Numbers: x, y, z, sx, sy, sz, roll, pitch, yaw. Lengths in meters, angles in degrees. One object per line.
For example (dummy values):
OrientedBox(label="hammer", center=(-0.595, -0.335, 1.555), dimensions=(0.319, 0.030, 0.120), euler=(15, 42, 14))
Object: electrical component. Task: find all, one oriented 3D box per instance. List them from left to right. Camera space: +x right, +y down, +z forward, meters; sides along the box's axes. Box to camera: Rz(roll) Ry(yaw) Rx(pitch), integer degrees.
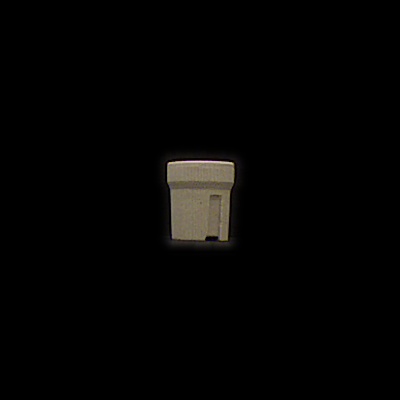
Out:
OrientedBox(label="electrical component", center=(0.000, 0.000, 0.651), dimensions=(0.040, 0.046, 0.040), euler=(1, 1, 1))
